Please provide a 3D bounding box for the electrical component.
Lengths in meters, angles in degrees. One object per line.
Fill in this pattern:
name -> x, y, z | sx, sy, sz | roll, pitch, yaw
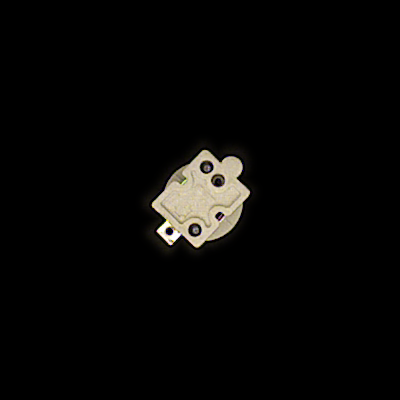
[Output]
electrical component -> 0.000, 0.000, 0.639 | 0.048, 0.066, 0.055 | 44, -3, 3
